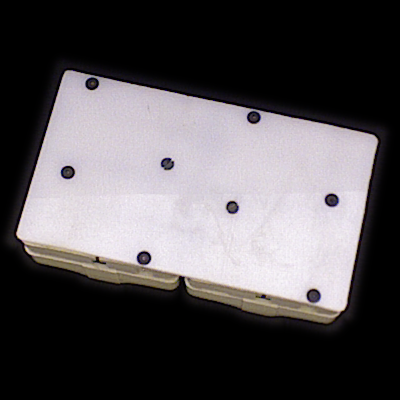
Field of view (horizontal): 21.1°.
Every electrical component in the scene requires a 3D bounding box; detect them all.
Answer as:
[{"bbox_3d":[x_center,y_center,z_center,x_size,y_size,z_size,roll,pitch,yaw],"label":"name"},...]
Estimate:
[{"bbox_3d":[0.000,0.000,0.625,0.186,0.106,0.060,12,-17,4],"label":"electrical component"}]
